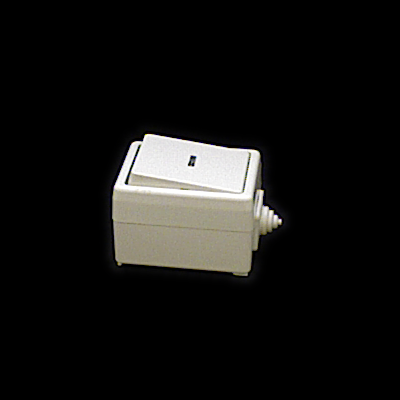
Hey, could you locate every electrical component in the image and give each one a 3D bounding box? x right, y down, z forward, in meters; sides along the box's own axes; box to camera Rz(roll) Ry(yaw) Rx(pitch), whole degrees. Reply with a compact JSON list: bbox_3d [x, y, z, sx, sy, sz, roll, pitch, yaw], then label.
[{"bbox_3d":[0.000,0.000,0.634,0.096,0.061,0.061,4,31,6],"label":"electrical component"}]
